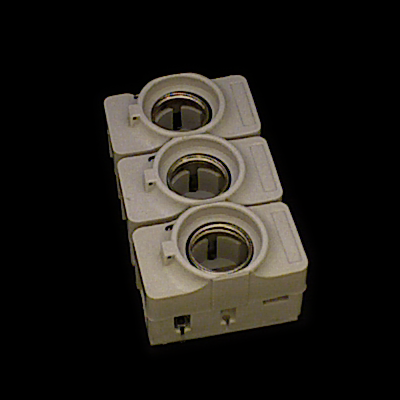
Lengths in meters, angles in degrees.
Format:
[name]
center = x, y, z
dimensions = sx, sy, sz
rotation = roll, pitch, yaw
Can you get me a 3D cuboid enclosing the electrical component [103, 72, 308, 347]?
[electrical component]
center = 0.000, 0.000, 0.633
dimensions = 0.090, 0.148, 0.062
rotation = -10, -37, -7
